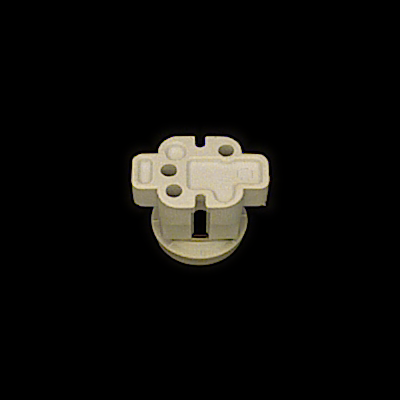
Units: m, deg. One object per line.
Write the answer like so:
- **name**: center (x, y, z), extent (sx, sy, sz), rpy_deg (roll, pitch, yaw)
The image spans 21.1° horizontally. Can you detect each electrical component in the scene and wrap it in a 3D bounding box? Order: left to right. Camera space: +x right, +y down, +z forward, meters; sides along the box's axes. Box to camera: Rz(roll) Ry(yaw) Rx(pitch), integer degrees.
- **electrical component**: center (0.000, 0.000, 0.638), extent (0.078, 0.057, 0.057), rpy_deg (0, -38, -3)
